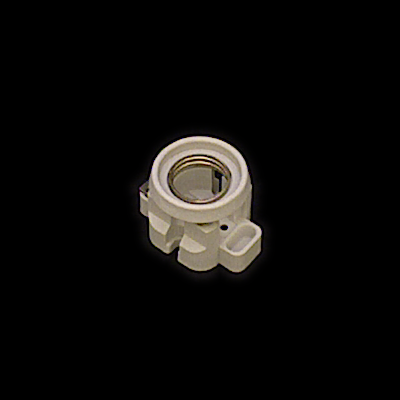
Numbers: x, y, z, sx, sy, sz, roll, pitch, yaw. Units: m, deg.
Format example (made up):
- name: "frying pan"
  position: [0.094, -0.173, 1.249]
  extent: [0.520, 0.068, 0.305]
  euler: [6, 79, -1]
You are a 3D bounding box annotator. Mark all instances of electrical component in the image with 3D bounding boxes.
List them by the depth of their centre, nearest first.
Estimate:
- name: "electrical component"
  position: [0.000, 0.000, 0.629]
  extent: [0.078, 0.058, 0.057]
  euler: [32, -31, 21]
